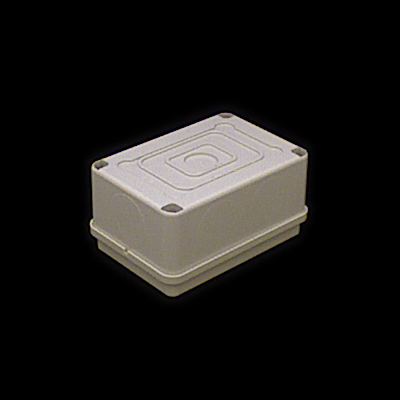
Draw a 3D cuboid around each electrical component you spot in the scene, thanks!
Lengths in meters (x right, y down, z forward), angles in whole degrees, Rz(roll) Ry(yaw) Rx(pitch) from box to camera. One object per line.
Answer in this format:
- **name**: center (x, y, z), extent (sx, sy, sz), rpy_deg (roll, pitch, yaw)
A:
- **electrical component**: center (0.000, 0.000, 0.634), extent (0.113, 0.058, 0.077), rpy_deg (-25, 40, -35)
